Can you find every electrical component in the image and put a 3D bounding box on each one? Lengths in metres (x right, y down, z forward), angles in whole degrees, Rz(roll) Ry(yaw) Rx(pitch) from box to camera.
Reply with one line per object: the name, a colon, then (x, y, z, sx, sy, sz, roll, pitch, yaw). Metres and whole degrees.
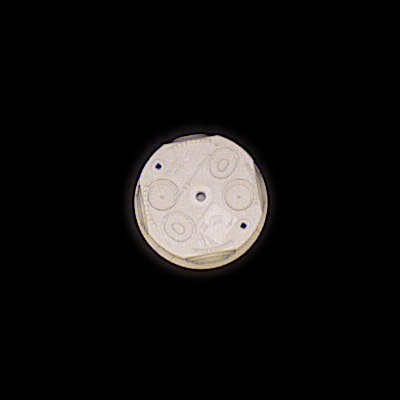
electrical component: (0.000, 0.000, 0.633, 0.080, 0.080, 0.050, 0, -7, 0)
